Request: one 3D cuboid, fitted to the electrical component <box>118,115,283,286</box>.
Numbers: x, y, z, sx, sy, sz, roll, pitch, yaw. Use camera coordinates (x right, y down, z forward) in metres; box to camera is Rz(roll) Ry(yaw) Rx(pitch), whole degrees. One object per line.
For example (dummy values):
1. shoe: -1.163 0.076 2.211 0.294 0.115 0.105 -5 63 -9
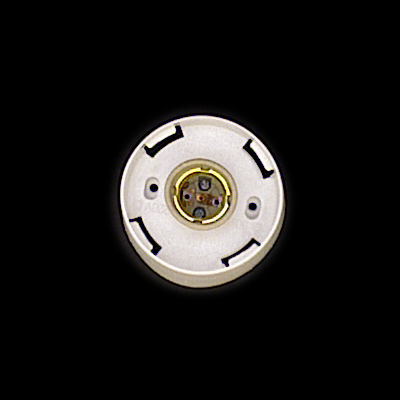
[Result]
1. electrical component: 0.000 0.000 0.626 0.099 0.099 0.064 0 -6 0
